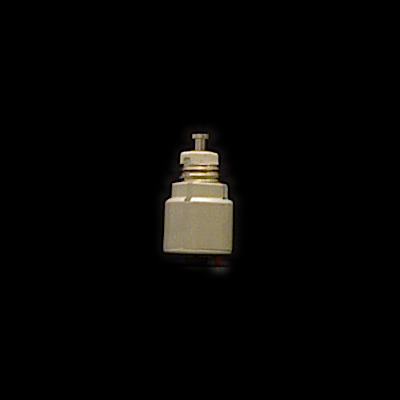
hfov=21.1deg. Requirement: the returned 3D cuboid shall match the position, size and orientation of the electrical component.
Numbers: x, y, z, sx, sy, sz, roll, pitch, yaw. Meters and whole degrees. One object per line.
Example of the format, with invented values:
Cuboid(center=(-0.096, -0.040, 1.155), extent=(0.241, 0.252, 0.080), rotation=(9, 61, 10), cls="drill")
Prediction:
Cuboid(center=(0.000, 0.000, 0.648), extent=(0.040, 0.078, 0.040), rotation=(1, 0, 0), cls="electrical component")
